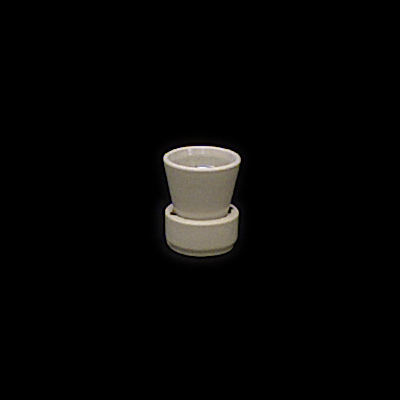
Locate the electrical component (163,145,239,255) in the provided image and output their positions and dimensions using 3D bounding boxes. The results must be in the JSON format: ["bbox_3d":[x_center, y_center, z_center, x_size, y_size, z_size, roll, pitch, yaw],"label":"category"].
[{"bbox_3d":[0.000,0.000,0.640,0.045,0.056,0.044,1,21,0],"label":"electrical component"}]
